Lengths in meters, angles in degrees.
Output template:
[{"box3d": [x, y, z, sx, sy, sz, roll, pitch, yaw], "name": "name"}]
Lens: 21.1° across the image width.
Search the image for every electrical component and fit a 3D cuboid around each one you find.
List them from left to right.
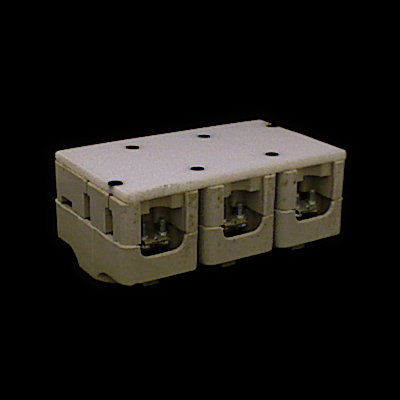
[{"box3d": [0.000, 0.000, 0.642, 0.150, 0.063, 0.088, -12, 24, -31], "name": "electrical component"}]
